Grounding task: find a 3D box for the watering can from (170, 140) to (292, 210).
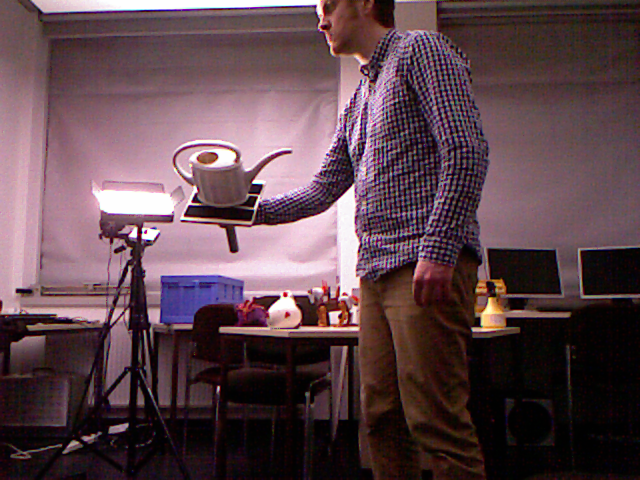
[{"bbox_3d":[-0.245,-0.183,1.452,0.348,0.219,0.107,3,45,7],"label":"watering can"}]
